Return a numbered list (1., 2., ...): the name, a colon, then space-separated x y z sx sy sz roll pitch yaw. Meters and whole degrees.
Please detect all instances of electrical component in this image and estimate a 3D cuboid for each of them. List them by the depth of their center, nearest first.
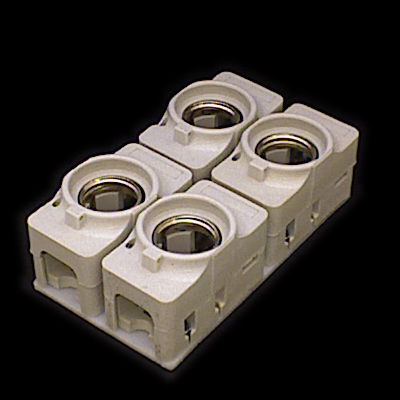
1. electrical component: 0.000 0.000 0.629 0.105 0.061 0.185 28 49 27
